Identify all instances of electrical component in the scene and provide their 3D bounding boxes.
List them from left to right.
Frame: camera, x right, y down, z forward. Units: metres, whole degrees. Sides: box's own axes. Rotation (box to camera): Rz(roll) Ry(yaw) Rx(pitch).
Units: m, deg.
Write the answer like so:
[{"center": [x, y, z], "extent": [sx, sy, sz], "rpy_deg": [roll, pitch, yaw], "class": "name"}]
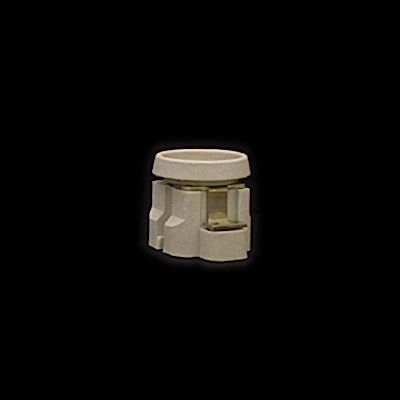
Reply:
[{"center": [0.000, 0.000, 0.643], "extent": [0.058, 0.057, 0.078], "rpy_deg": [-5, 12, -28], "class": "electrical component"}]
